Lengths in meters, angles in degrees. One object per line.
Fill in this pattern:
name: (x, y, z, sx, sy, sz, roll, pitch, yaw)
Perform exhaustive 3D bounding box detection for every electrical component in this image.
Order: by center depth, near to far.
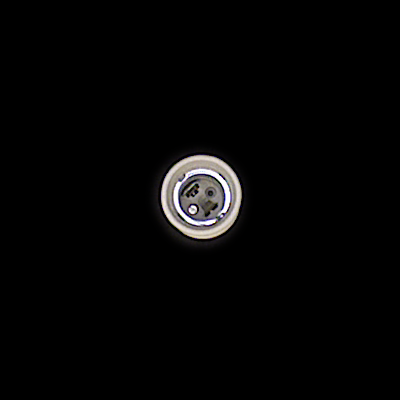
electrical component: (0.000, 0.000, 0.629, 0.045, 0.045, 0.055, 0, -7, 1)
